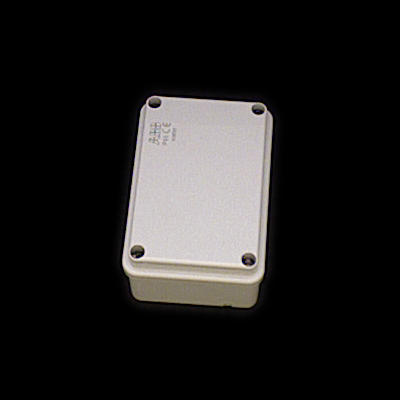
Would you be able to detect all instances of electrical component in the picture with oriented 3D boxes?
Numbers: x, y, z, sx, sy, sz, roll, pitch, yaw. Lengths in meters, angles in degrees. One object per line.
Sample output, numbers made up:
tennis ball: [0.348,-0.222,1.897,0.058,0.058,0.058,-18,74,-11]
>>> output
electrical component: [0.000,0.000,0.627,0.078,0.113,0.057,4,-27,2]
